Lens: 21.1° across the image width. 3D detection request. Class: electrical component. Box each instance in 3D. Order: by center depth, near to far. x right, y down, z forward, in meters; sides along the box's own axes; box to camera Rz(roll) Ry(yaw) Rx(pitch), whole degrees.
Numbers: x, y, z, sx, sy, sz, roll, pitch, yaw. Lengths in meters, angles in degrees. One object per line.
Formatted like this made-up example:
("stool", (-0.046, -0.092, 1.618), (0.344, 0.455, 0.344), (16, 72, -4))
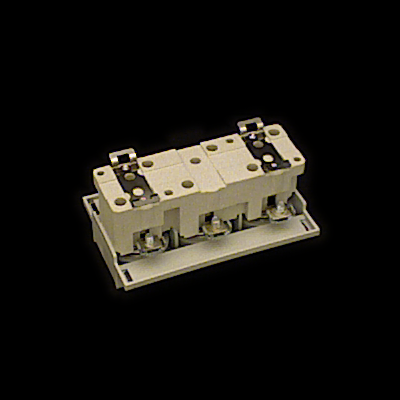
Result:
("electrical component", (0.000, 0.000, 0.636), (0.122, 0.063, 0.078), (-15, 45, -17))
